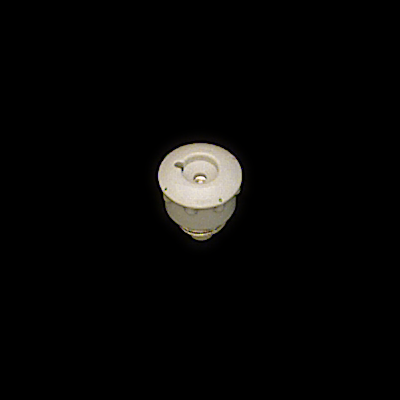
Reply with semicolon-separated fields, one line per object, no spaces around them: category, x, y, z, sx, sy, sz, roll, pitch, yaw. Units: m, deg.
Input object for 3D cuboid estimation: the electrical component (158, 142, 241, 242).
electrical component;0.000;0.000;0.633;0.048;0.048;0.062;0;-37;0
